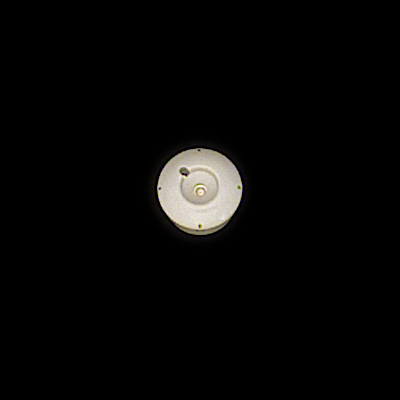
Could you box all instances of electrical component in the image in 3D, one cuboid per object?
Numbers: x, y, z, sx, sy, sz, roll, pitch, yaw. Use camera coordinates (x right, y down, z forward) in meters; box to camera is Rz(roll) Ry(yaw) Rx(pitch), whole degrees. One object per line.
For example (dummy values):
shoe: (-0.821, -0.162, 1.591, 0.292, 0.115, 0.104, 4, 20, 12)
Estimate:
electrical component: (0.000, 0.000, 0.633, 0.048, 0.048, 0.061, 0, -16, 1)
